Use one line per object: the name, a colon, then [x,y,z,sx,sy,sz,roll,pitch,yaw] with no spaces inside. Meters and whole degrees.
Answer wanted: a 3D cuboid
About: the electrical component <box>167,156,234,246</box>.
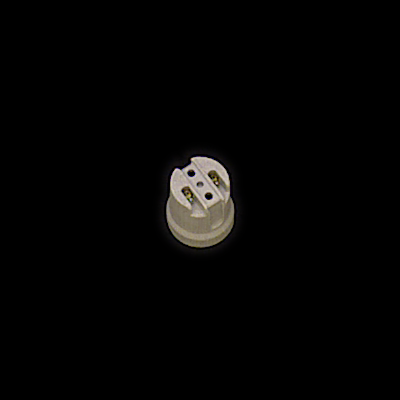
electrical component: [0.000,0.000,0.632,0.040,0.040,0.046,0,-27,0]
